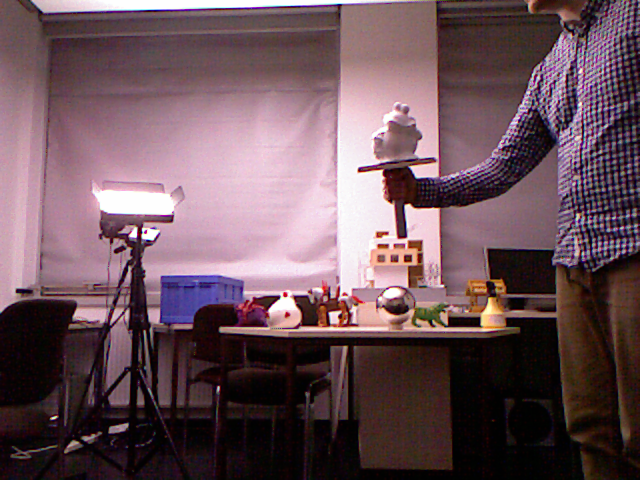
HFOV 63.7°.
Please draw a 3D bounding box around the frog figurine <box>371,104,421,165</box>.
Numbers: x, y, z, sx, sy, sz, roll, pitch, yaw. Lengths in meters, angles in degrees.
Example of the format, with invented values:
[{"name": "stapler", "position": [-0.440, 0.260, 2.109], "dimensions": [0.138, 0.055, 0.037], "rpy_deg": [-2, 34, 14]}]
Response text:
[{"name": "frog figurine", "position": [0.205, -0.290, 1.408], "dimensions": [0.137, 0.158, 0.124], "rpy_deg": [-3, 11, 20]}]
